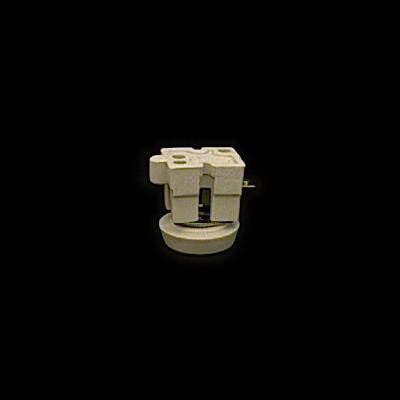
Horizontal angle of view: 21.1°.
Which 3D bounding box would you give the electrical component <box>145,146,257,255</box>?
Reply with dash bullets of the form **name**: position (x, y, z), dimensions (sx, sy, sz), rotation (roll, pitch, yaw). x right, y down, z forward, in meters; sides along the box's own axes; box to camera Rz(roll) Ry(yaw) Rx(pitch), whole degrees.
- **electrical component**: position (0.000, 0.000, 0.646), dimensions (0.067, 0.056, 0.048), rotation (-2, 21, -11)
